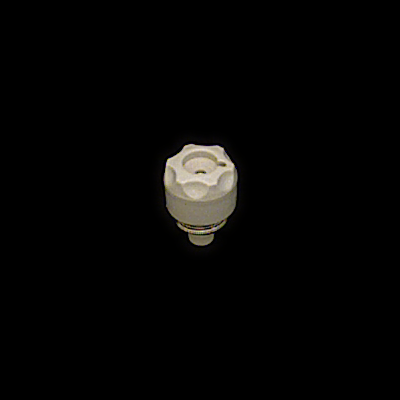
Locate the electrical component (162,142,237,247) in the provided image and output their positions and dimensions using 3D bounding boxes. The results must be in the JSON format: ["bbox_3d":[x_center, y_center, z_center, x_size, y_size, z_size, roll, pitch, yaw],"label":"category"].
[{"bbox_3d":[0.000,0.000,0.638,0.043,0.062,0.043,0,43,1],"label":"electrical component"}]
